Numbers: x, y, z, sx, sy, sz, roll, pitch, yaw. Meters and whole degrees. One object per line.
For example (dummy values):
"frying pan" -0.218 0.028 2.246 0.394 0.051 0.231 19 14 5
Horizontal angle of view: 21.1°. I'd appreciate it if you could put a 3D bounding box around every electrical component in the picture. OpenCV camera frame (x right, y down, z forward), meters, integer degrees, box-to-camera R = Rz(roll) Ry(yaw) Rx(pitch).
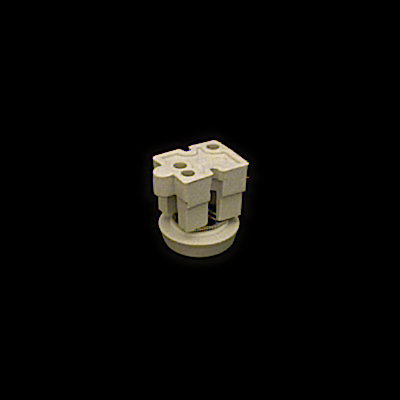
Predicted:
"electrical component" 0.000 0.000 0.642 0.067 0.056 0.047 -18 36 -29
